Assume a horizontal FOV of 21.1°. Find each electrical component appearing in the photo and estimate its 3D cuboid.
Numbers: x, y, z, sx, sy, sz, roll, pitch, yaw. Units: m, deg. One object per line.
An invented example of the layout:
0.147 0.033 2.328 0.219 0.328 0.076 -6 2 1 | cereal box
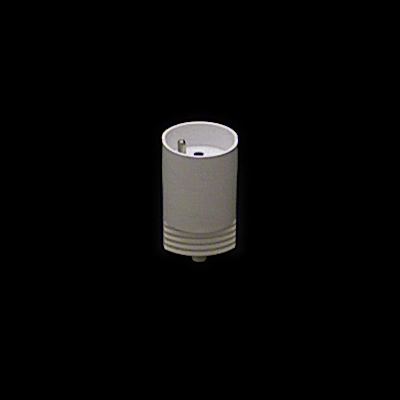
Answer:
0.000 0.000 0.626 0.043 0.082 0.042 0 31 0 | electrical component
